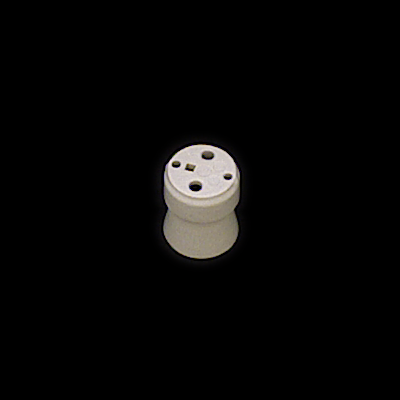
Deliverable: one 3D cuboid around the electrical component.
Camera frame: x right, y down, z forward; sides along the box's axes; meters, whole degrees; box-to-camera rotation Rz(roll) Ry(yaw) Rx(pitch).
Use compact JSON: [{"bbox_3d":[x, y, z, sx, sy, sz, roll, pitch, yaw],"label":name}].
[{"bbox_3d":[0.000,0.000,0.631,0.045,0.044,0.055,0,-38,-1],"label":"electrical component"}]
